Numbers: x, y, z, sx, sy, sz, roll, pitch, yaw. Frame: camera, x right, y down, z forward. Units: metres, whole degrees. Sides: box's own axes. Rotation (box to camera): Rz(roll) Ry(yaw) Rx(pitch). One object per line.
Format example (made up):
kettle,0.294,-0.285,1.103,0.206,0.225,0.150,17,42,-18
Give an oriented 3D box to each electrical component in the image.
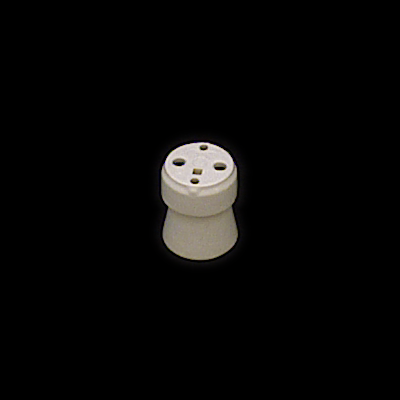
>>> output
electrical component,0.000,0.000,0.632,0.045,0.055,0.044,0,42,0
